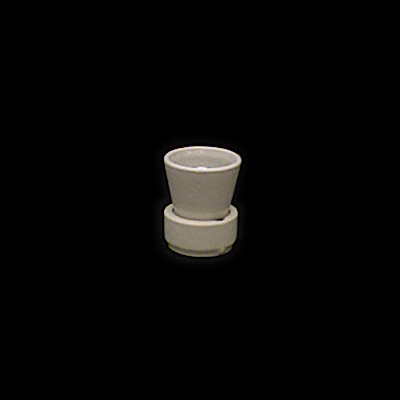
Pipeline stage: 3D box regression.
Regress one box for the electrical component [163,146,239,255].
[{"bbox_3d":[0.000,0.000,0.641,0.045,0.056,0.044,2,21,0],"label":"electrical component"}]
